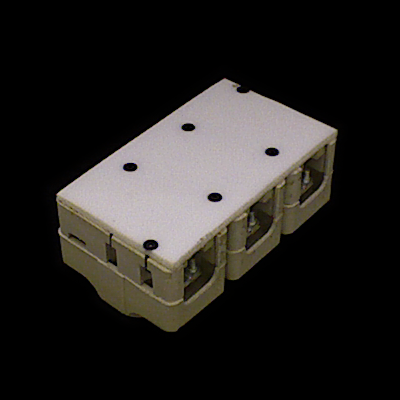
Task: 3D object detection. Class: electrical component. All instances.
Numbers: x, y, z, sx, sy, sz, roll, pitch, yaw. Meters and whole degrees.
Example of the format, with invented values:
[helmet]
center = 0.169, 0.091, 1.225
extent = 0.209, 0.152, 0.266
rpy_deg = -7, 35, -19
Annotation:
[electrical component]
center = 0.000, 0.000, 0.634
extent = 0.089, 0.063, 0.149
rpy_deg = 30, 50, 29
